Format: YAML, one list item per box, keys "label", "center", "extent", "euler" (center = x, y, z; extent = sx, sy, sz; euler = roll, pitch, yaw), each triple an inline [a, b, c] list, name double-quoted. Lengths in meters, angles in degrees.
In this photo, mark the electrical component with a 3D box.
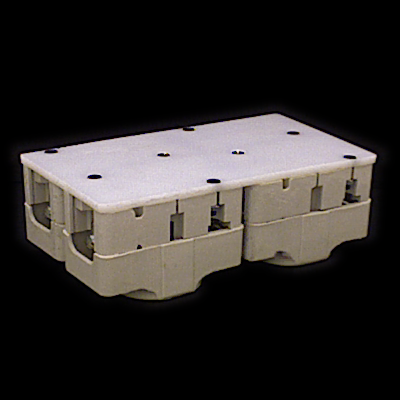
- label: "electrical component"
  center: [0.000, 0.000, 0.638]
  extent: [0.186, 0.061, 0.104]
  euler: [-11, 24, -30]
